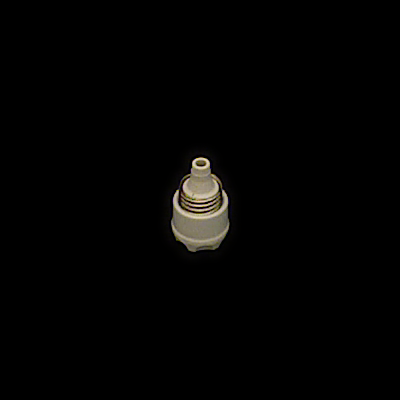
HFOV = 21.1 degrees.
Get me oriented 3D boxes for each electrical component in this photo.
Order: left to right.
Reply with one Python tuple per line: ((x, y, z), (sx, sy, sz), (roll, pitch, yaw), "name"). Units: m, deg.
((0.000, 0.000, 0.644), (0.035, 0.062, 0.034), (0, 44, 0), "electrical component")
